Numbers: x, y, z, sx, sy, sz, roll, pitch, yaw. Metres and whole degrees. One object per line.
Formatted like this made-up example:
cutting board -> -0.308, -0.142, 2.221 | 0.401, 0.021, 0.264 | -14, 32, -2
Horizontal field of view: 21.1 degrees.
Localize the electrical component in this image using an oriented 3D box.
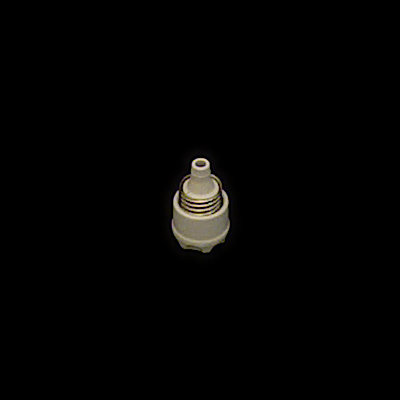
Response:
electrical component -> 0.000, 0.000, 0.643 | 0.035, 0.062, 0.034 | 0, 44, 0
